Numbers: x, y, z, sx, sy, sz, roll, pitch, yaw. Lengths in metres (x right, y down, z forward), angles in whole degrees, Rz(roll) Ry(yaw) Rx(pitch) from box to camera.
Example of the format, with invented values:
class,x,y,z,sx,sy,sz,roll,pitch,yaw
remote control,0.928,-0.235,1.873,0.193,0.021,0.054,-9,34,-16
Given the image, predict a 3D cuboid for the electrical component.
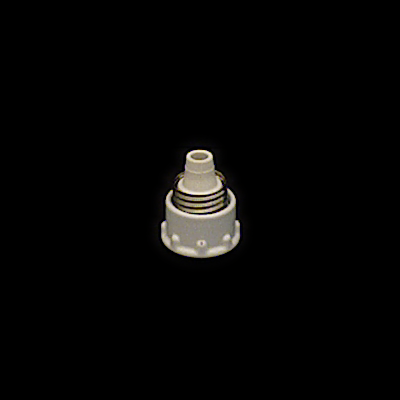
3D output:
class,x,y,z,sx,sy,sz,roll,pitch,yaw
electrical component,0.000,0.000,0.641,0.048,0.063,0.047,0,31,1
